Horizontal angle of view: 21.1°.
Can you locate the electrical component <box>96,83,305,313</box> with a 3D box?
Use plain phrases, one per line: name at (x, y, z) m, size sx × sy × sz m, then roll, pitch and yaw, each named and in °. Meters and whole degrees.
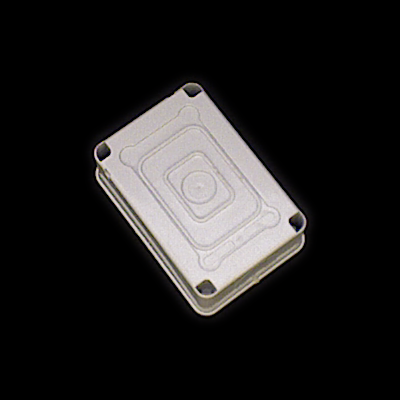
electrical component at (0.000, 0.000, 0.627) m, size 0.078 × 0.113 × 0.057 m, roll -35°, pitch -13°, yaw -10°
